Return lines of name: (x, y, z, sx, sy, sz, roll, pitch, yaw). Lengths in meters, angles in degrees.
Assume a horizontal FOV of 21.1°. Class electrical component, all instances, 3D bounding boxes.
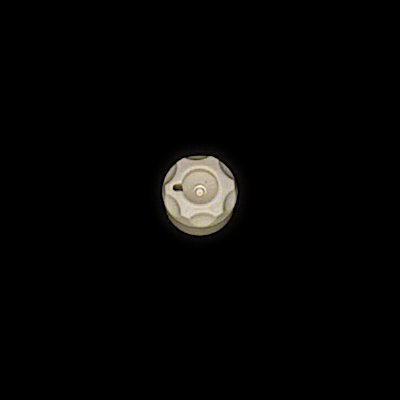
electrical component: (0.000, 0.000, 0.634, 0.043, 0.043, 0.061, 0, -16, 0)
